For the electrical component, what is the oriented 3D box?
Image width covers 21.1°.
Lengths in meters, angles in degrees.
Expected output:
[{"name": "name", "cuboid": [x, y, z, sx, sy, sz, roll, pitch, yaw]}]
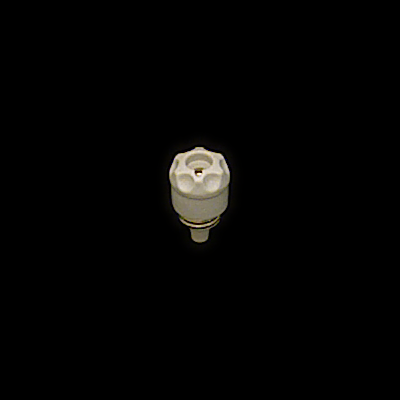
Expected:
[{"name": "electrical component", "cuboid": [0.000, 0.000, 0.636, 0.035, 0.062, 0.035, 0, 43, 0]}]
